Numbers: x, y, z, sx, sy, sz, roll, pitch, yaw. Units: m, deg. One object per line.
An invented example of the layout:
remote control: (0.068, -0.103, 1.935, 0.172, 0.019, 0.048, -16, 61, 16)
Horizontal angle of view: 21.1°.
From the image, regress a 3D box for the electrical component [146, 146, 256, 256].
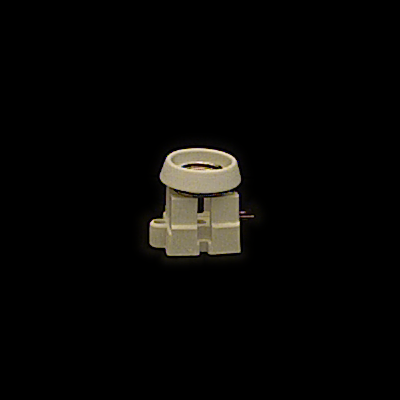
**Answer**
electrical component: (0.000, 0.000, 0.648, 0.067, 0.056, 0.047, -3, 24, -9)
